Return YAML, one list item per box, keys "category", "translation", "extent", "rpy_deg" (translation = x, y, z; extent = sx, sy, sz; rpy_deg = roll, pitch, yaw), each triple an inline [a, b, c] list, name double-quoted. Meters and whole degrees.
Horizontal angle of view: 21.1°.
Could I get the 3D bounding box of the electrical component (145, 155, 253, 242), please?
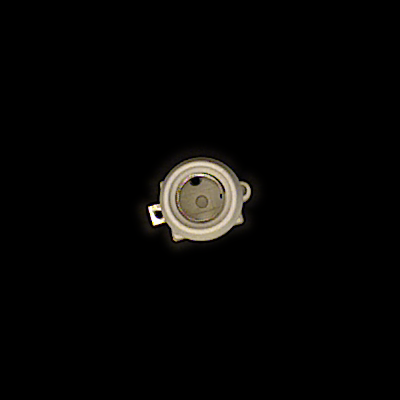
- category: "electrical component"
  translation: [0.000, 0.000, 0.639]
  extent: [0.066, 0.048, 0.055]
  rpy_deg: [-17, -8, -1]
